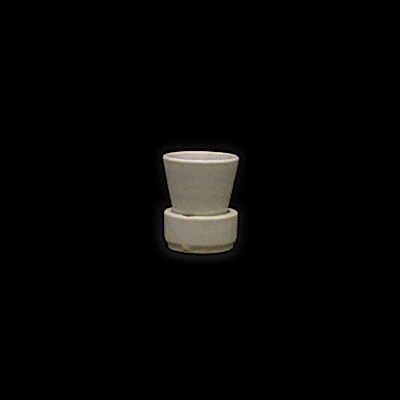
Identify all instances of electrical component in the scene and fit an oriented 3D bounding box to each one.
[{"bbox_3d":[0.000,0.000,0.643,0.045,0.055,0.044,1,11,0],"label":"electrical component"}]
